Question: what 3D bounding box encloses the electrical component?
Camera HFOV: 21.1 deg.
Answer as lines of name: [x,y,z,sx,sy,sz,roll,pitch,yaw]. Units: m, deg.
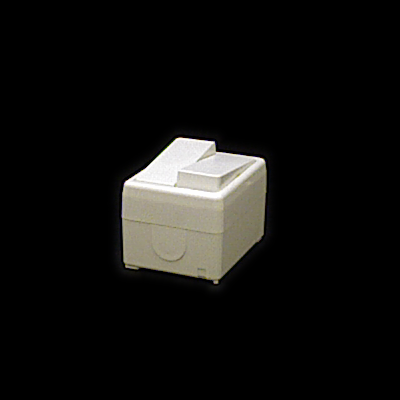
electrical component: [0.000,0.000,0.641,0.061,0.061,0.095,9,22,21]
